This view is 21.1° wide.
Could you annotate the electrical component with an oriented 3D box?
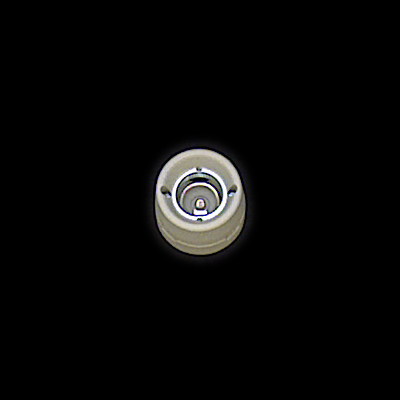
[{"bbox_3d":[0.000,0.000,0.633,0.055,0.056,0.047,0,-17,1],"label":"electrical component"}]
